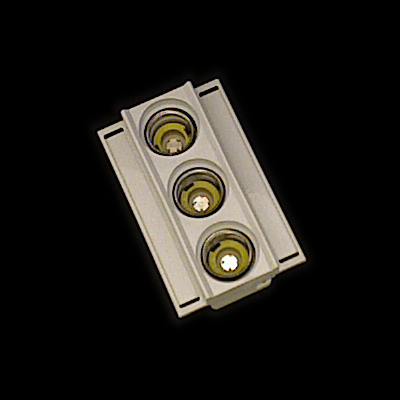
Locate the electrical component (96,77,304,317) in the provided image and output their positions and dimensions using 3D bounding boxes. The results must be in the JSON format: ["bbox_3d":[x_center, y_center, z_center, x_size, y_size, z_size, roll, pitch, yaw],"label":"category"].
[{"bbox_3d":[0.000,0.000,0.636,0.079,0.121,0.063,-23,-15,-4],"label":"electrical component"}]
